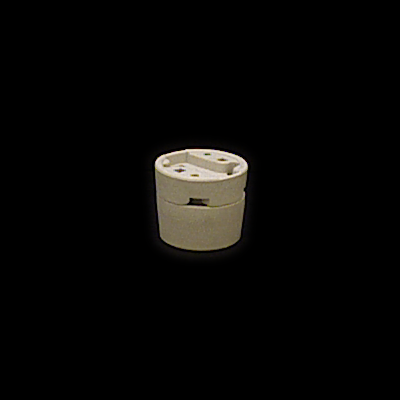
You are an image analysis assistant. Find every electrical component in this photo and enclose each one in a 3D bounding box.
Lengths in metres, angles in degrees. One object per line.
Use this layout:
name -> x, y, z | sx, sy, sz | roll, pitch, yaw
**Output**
electrical component -> 0.000, 0.000, 0.642 | 0.055, 0.047, 0.055 | 1, 21, 0
